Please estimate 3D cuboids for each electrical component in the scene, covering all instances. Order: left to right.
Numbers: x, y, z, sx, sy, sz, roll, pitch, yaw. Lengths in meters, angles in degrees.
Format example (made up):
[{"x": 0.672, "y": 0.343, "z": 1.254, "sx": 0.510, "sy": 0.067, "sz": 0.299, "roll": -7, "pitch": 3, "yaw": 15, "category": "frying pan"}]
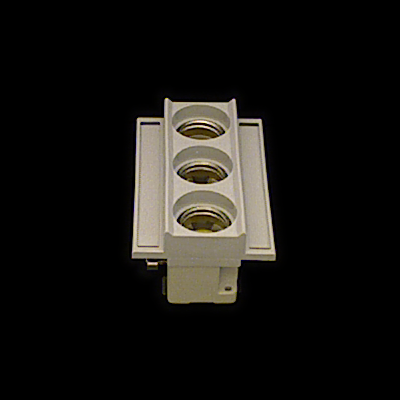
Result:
[{"x": 0.000, "y": 0.000, "z": 0.643, "sx": 0.079, "sy": 0.064, "sz": 0.119, "roll": 0, "pitch": 42, "yaw": -2, "category": "electrical component"}]
